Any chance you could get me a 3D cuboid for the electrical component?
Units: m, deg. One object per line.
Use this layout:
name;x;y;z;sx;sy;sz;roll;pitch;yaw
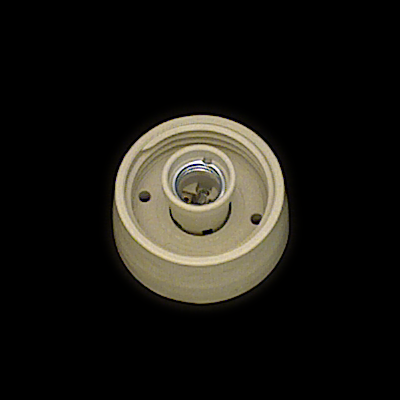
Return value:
electrical component;0.000;0.000;0.634;0.108;0.108;0.060;0;-27;0
